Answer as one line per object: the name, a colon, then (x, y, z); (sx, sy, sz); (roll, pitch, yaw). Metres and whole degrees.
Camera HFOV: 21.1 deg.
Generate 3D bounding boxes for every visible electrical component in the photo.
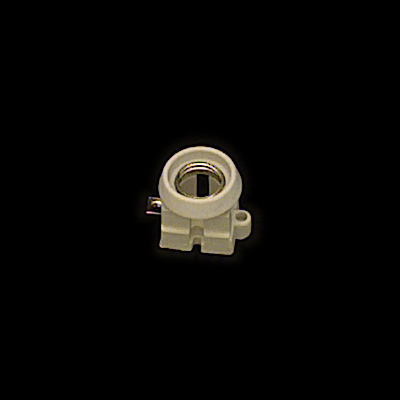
electrical component: (0.000, 0.000, 0.637); (0.066, 0.048, 0.055); (5, -39, 3)
